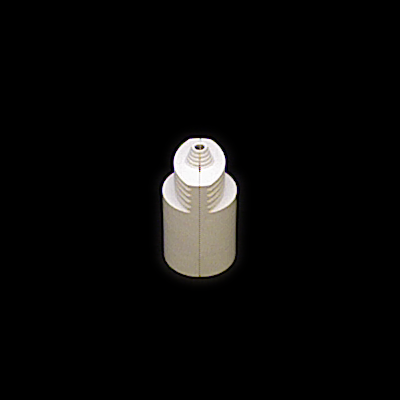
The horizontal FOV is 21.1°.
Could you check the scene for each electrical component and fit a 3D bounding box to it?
[{"bbox_3d":[0.000,0.000,0.624,0.043,0.082,0.042,1,41,0],"label":"electrical component"}]
